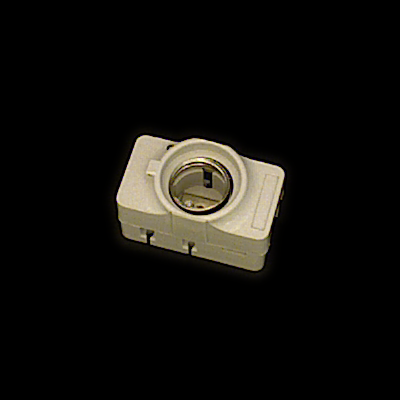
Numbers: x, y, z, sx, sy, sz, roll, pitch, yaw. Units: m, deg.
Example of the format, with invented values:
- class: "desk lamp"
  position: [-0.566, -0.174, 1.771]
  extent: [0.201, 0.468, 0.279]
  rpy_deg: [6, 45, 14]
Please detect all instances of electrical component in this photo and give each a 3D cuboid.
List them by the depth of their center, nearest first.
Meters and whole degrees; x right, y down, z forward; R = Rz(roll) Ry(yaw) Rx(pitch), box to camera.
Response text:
- class: "electrical component"
  position: [0.000, 0.000, 0.636]
  extent: [0.089, 0.050, 0.055]
  rpy_deg: [13, -26, 6]
